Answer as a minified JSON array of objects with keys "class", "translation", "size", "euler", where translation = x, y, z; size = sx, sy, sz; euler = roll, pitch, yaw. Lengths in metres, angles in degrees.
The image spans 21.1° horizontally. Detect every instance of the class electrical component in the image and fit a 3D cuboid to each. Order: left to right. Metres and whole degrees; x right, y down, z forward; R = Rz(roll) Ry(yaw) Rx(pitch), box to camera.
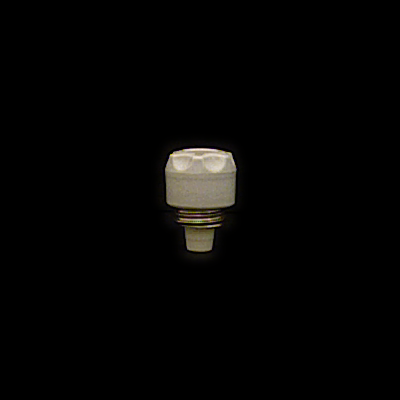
[{"class":"electrical component","translation":[0.000,0.000,0.652],"size":[0.043,0.062,0.043],"euler":[1,11,0]}]
